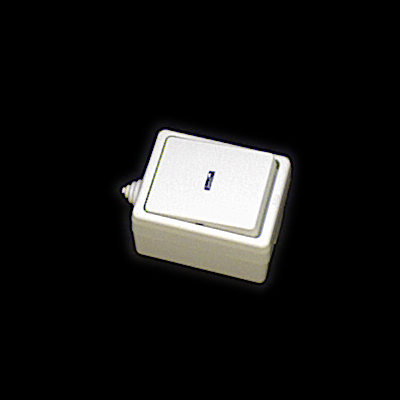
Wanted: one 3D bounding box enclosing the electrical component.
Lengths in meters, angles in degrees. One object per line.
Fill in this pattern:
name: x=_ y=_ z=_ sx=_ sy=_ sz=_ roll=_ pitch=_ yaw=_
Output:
electrical component: x=0.000 y=0.000 z=0.626 sx=0.096 sy=0.062 sz=0.061 roll=13 pitch=-27 yaw=7
